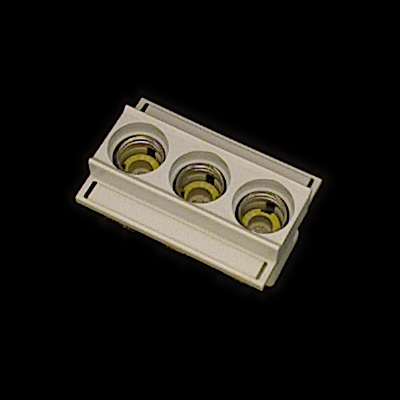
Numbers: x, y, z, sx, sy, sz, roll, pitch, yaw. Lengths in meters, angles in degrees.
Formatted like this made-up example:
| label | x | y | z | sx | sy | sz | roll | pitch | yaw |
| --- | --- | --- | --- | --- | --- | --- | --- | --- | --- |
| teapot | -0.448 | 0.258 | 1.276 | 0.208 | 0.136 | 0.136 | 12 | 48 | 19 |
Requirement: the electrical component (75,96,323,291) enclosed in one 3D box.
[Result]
| label | x | y | z | sx | sy | sz | roll | pitch | yaw |
| --- | --- | --- | --- | --- | --- | --- | --- | --- | --- |
| electrical component | 0.000 | 0.000 | 0.638 | 0.121 | 0.078 | 0.063 | 25 | -25 | 12 |
